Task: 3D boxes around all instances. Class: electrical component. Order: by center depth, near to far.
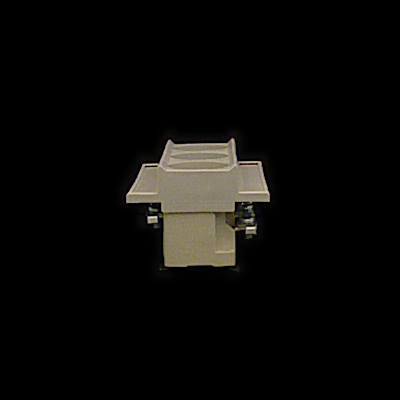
[{"bbox_3d":[0.000,0.000,0.655,0.079,0.063,0.120,0,11,1],"label":"electrical component"}]
